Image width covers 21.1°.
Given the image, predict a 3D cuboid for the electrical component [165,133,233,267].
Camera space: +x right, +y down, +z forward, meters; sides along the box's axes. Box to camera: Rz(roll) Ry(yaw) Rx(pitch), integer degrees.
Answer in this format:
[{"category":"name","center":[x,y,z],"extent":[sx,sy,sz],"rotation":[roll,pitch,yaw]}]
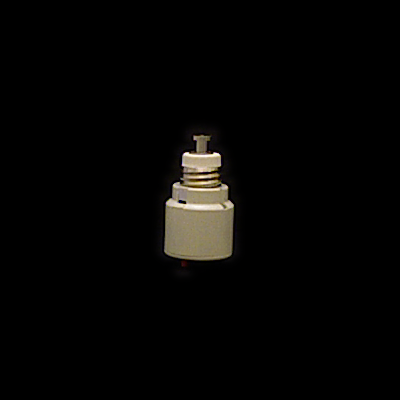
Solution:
[{"category":"electrical component","center":[0.000,0.000,0.643],"extent":[0.040,0.079,0.040],"rotation":[2,12,0]}]
